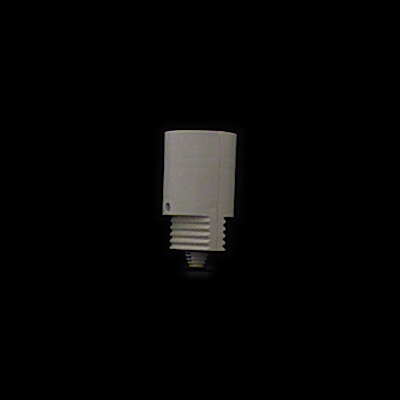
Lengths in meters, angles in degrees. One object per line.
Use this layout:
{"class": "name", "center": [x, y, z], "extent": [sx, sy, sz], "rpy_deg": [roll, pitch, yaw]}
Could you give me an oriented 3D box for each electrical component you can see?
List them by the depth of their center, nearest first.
{"class": "electrical component", "center": [0.000, 0.000, 0.649], "extent": [0.043, 0.081, 0.043], "rpy_deg": [1, 2, 0]}
